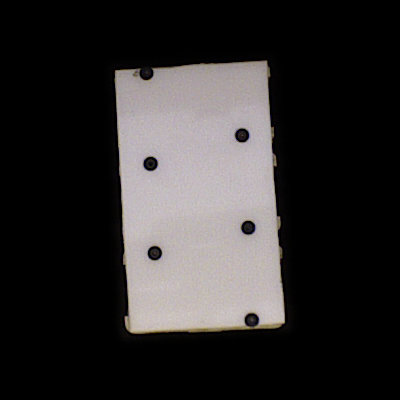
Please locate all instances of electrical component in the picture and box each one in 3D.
[{"bbox_3d":[0.000,0.000,0.631,0.089,0.150,0.061,-3,-6,0],"label":"electrical component"}]
